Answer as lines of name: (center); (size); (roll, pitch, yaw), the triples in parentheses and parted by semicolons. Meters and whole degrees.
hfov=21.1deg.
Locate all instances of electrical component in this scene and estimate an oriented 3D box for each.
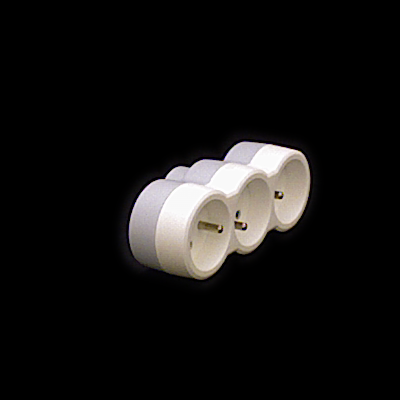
electrical component: (0.000, 0.000, 0.638); (0.073, 0.053, 0.138); (13, 24, 33)
